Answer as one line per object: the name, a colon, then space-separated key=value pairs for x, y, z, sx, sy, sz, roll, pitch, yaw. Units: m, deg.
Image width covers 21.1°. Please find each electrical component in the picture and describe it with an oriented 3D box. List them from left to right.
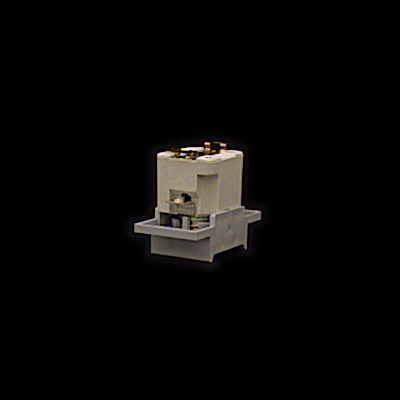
electrical component: x=0.000 y=0.000 z=0.643 sx=0.042 sy=0.064 sz=0.080 roll=8 pitch=12 yaw=29
